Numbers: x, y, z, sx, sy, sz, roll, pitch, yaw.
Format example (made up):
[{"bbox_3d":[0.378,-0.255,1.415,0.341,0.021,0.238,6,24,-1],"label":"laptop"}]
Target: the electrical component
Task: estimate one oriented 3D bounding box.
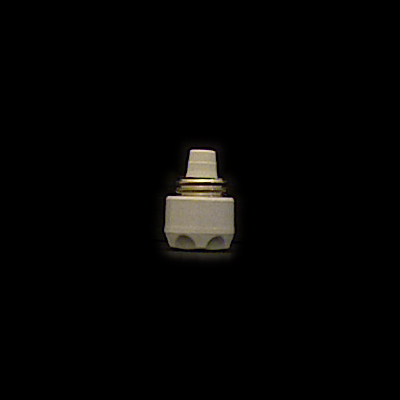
[{"bbox_3d":[0.000,0.000,0.657,0.043,0.062,0.043,3,1,0],"label":"electrical component"}]
